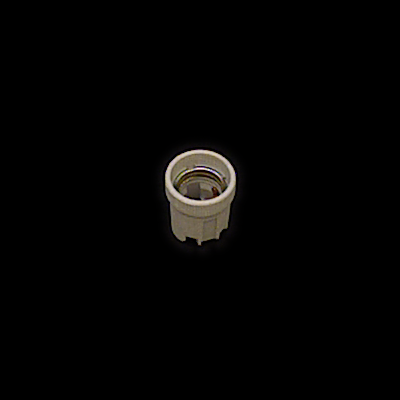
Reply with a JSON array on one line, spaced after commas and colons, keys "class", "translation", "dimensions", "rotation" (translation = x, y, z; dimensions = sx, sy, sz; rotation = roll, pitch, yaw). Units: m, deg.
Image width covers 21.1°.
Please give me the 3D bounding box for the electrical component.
[{"class": "electrical component", "translation": [0.000, 0.000, 0.629], "dimensions": [0.040, 0.040, 0.046], "rotation": [0, -38, -1]}]
